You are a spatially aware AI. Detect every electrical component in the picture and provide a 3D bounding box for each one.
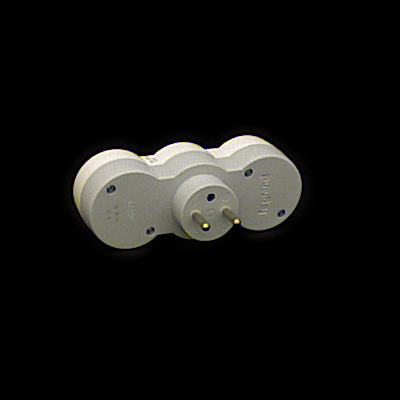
[{"bbox_3d":[0.000,0.000,0.644,0.139,0.053,0.072,-7,25,-21],"label":"electrical component"}]
